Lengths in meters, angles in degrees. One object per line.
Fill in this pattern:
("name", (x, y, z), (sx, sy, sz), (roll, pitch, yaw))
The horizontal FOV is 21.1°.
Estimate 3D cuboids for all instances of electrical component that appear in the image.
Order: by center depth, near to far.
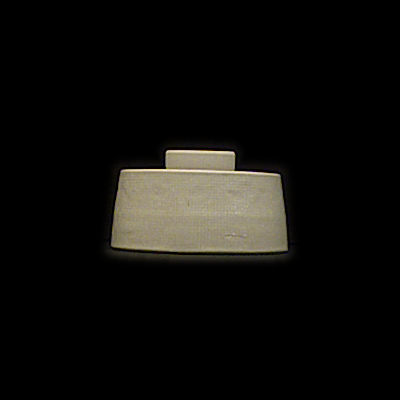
("electrical component", (0.000, 0.000, 0.658), (0.108, 0.060, 0.108), (1, 1, 1))
